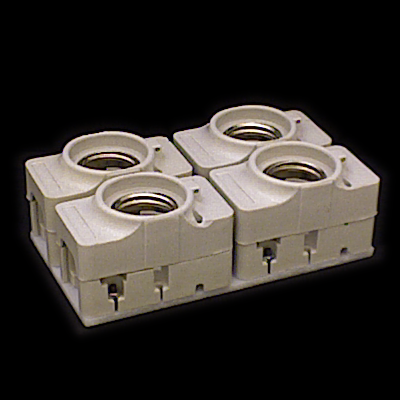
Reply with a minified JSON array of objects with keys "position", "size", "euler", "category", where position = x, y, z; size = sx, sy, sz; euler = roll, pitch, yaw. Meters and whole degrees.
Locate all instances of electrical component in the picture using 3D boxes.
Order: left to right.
[{"position":[0.000,0.000,0.635],"size":[0.186,0.061,0.104],"euler":[-12,34,-21],"category":"electrical component"}]
